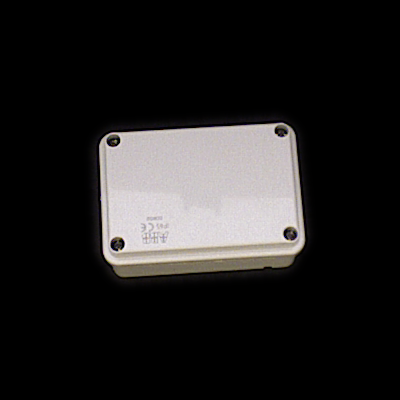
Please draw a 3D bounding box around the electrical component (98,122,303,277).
[{"bbox_3d":[0.000,0.000,0.626,0.113,0.078,0.057,-3,-17,-1],"label":"electrical component"}]
